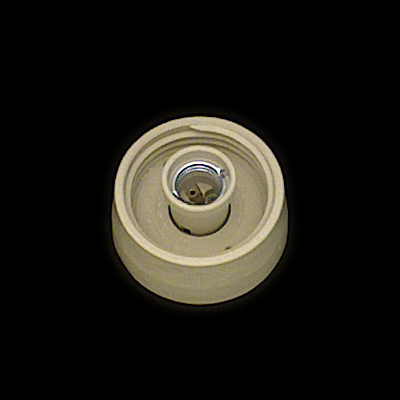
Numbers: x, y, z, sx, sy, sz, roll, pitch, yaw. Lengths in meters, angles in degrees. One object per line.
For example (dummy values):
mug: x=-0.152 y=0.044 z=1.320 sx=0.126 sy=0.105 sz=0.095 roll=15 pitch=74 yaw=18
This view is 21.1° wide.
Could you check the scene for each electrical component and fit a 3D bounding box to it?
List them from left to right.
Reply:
electrical component: x=0.000 y=0.000 z=0.634 sx=0.108 sy=0.108 sz=0.060 roll=0 pitch=-27 yaw=0
